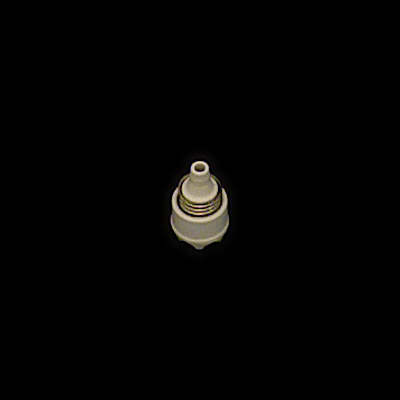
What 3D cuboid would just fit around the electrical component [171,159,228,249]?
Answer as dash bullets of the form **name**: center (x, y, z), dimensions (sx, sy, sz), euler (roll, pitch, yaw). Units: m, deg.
- **electrical component**: center (0.000, 0.000, 0.639), dimensions (0.035, 0.035, 0.062), euler (0, -38, -1)
